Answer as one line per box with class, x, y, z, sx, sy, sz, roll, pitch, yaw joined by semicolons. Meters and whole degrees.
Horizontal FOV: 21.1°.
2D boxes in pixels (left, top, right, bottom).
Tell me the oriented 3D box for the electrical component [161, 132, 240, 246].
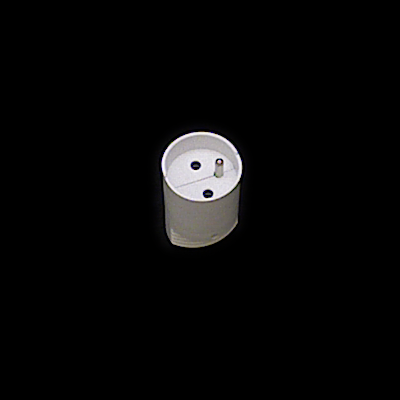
electrical component;0.000;0.000;0.618;0.043;0.043;0.081;0;-27;-1
